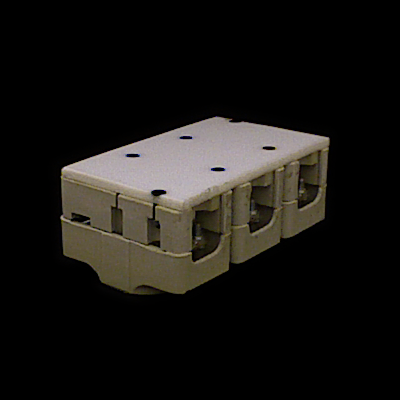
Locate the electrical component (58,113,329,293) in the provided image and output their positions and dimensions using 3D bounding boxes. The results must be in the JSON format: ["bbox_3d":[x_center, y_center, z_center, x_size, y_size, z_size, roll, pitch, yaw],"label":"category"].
[{"bbox_3d":[0.000,0.000,0.642,0.089,0.063,0.148,15,25,34],"label":"electrical component"}]
